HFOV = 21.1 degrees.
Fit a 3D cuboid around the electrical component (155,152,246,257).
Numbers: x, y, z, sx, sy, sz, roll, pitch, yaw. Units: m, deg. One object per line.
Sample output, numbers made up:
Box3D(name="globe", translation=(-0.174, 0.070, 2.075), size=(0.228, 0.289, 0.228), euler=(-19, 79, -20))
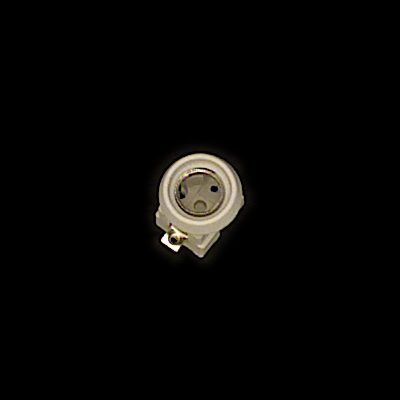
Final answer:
Box3D(name="electrical component", translation=(0.000, 0.000, 0.637), size=(0.048, 0.067, 0.055), euler=(34, -13, 11))
